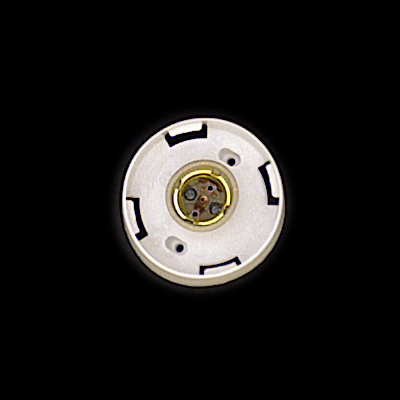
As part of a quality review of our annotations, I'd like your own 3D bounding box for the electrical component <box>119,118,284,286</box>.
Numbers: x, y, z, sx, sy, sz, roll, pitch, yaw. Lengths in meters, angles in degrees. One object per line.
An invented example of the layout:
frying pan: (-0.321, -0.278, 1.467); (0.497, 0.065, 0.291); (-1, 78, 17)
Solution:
electrical component: (0.000, 0.000, 0.625); (0.099, 0.099, 0.064); (0, -7, 1)
